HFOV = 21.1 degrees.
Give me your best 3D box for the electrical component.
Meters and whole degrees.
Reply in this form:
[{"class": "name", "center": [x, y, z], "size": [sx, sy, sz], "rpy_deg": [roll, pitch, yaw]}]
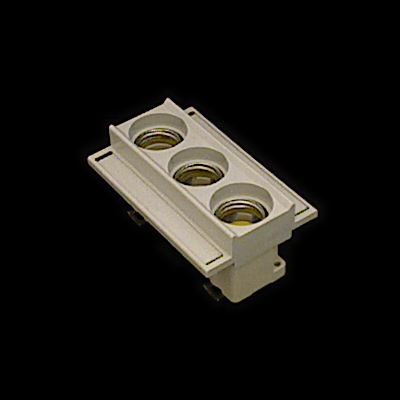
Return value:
[{"class": "electrical component", "center": [0.000, 0.000, 0.641], "size": [0.078, 0.063, 0.120], "rpy_deg": [-28, 50, -25]}]
